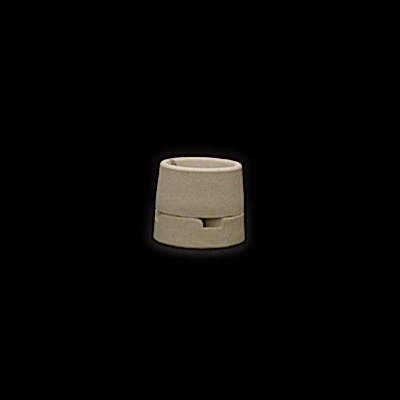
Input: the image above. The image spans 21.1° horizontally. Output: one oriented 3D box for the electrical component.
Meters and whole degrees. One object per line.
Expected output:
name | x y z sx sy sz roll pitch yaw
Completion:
electrical component | 0.000 0.000 0.645 0.055 0.047 0.055 2 12 0
